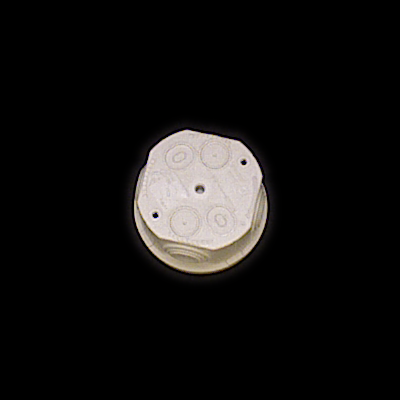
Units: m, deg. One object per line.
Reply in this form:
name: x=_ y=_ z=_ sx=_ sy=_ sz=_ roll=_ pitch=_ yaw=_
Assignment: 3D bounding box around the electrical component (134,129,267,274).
electrical component: x=0.000 y=0.000 z=0.631 sx=0.080 sy=0.080 sz=0.050 roll=0 pitch=-17 yaw=0
